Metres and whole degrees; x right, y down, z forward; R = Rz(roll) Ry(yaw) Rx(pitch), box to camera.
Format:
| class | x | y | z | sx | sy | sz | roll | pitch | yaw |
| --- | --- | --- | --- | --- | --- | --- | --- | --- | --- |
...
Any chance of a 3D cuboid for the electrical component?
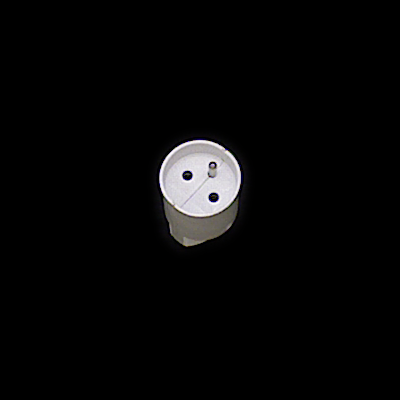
| class | x | y | z | sx | sy | sz | roll | pitch | yaw |
| --- | --- | --- | --- | --- | --- | --- | --- | --- | --- |
| electrical component | 0.000 | 0.000 | 0.616 | 0.043 | 0.043 | 0.080 | 0 | -17 | -1 |
